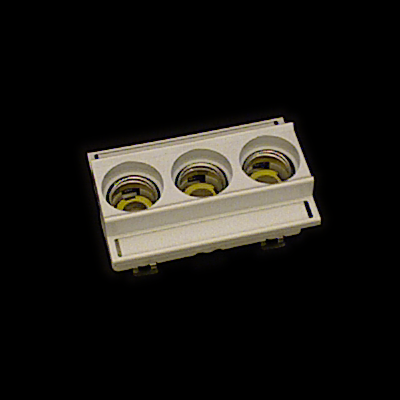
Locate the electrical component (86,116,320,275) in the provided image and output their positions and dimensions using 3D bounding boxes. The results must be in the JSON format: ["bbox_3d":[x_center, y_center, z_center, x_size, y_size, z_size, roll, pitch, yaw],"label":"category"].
[{"bbox_3d":[0.000,0.000,0.639,0.121,0.078,0.063,-11,-35,-8],"label":"electrical component"}]
